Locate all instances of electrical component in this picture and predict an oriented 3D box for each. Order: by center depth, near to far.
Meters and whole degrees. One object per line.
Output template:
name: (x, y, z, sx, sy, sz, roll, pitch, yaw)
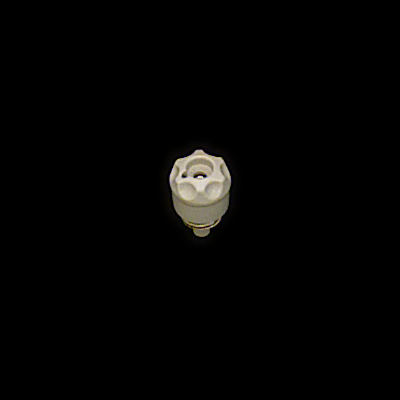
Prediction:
electrical component: (0.000, 0.000, 0.635, 0.035, 0.035, 0.062, 0, -37, 1)
